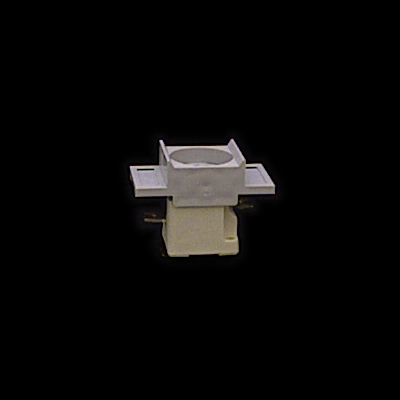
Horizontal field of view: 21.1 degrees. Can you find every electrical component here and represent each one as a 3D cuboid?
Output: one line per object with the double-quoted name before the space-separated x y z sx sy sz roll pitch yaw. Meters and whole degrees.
"electrical component" 0.000 0.000 0.637 0.081 0.064 0.041 -1 22 -8
